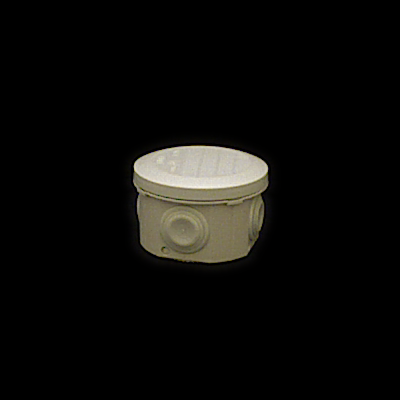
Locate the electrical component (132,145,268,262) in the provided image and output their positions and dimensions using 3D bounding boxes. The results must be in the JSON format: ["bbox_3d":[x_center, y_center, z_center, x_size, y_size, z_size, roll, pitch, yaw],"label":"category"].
[{"bbox_3d":[0.000,0.000,0.643,0.080,0.051,0.079,1,21,0],"label":"electrical component"}]
